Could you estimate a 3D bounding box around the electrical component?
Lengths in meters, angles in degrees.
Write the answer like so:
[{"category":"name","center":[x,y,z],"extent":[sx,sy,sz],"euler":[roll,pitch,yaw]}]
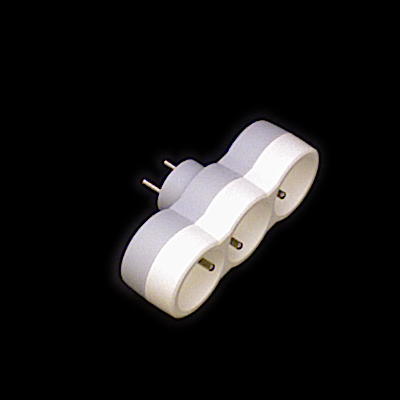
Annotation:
[{"category":"electrical component","center":[0.000,0.000,0.630],"extent":[0.073,0.138,0.052],"euler":[33,-30,24]}]
